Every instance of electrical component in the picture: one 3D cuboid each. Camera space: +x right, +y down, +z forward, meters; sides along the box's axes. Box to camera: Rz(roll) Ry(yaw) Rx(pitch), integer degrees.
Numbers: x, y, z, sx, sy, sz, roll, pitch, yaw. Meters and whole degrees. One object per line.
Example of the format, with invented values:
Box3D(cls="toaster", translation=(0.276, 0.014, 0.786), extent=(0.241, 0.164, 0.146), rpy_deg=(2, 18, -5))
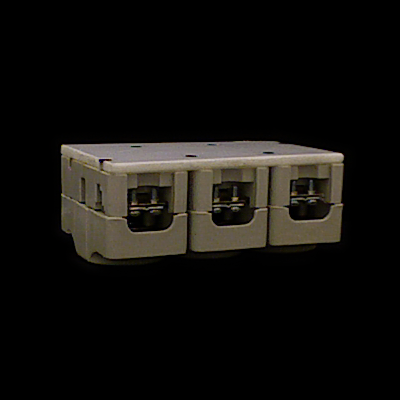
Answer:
Box3D(cls="electrical component", translation=(0.000, 0.000, 0.654), extent=(0.150, 0.062, 0.088), rpy_deg=(-3, 11, -25))
